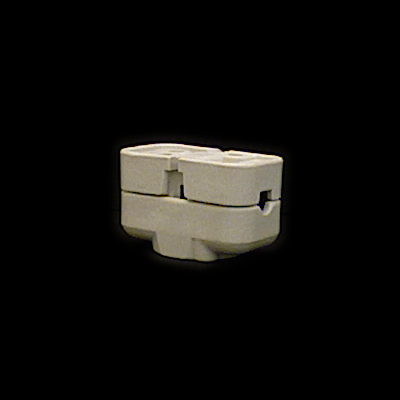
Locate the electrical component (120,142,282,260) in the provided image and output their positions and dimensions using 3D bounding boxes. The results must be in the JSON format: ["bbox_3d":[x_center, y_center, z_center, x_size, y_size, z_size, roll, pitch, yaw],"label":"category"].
[{"bbox_3d":[0.000,0.000,0.648,0.094,0.060,0.054,9,14,34],"label":"electrical component"}]
